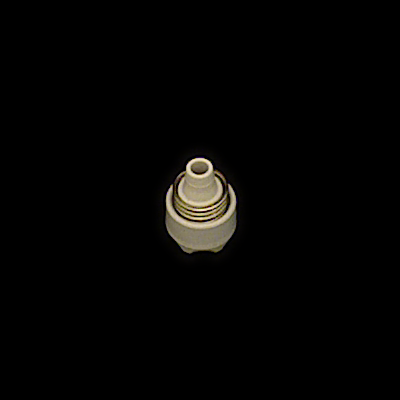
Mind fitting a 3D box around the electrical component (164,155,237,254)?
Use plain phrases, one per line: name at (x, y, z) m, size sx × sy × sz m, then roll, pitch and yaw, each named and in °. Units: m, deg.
electrical component at (0.000, 0.000, 0.636) m, size 0.043 × 0.043 × 0.062 m, roll 0°, pitch -38°, yaw 0°
